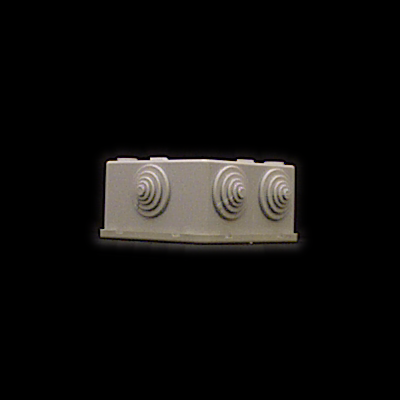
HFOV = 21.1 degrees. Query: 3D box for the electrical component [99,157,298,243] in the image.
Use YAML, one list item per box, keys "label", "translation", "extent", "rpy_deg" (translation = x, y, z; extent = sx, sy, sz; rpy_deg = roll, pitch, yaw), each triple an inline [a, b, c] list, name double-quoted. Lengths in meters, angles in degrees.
- label: "electrical component"
  translation: [0.000, 0.000, 0.651]
  extent: [0.099, 0.048, 0.100]
  rpy_deg: [2, 0, 43]
